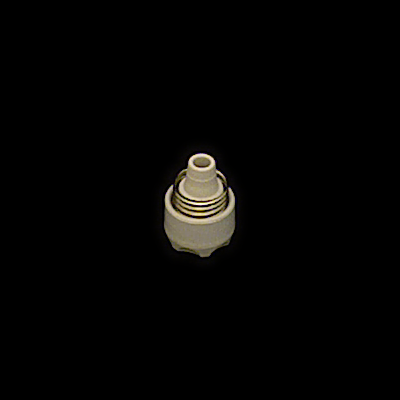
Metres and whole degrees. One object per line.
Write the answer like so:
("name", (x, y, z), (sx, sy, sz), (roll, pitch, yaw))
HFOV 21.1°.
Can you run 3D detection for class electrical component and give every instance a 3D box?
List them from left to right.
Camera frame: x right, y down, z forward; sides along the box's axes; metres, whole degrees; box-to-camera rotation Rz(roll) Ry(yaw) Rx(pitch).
("electrical component", (0.000, 0.000, 0.637), (0.043, 0.062, 0.043), (1, 43, -1))
